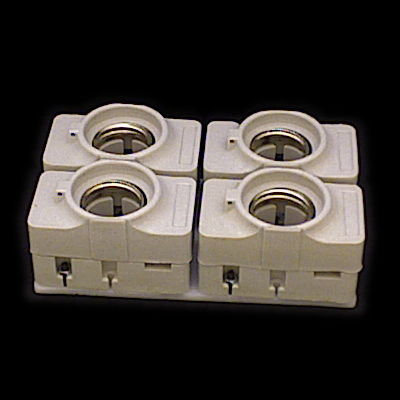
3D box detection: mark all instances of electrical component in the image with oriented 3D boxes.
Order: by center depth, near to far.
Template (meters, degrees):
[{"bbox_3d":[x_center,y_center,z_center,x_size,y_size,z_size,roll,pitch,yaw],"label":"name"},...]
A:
[{"bbox_3d":[0.000,0.000,0.629,0.186,0.061,0.104,2,42,2],"label":"electrical component"}]
